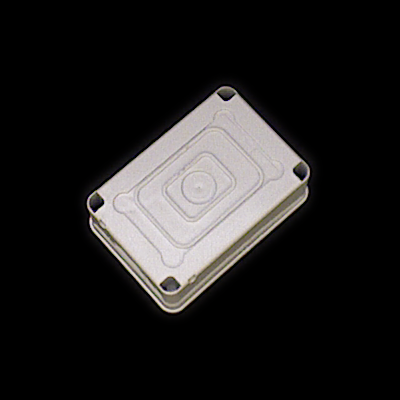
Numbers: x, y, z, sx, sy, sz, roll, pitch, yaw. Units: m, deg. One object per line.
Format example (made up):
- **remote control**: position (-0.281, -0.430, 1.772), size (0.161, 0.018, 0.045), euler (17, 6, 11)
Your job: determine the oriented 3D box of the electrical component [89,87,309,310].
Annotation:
- **electrical component**: position (0.000, 0.000, 0.628), size (0.113, 0.078, 0.057), euler (-40, -13, -12)
